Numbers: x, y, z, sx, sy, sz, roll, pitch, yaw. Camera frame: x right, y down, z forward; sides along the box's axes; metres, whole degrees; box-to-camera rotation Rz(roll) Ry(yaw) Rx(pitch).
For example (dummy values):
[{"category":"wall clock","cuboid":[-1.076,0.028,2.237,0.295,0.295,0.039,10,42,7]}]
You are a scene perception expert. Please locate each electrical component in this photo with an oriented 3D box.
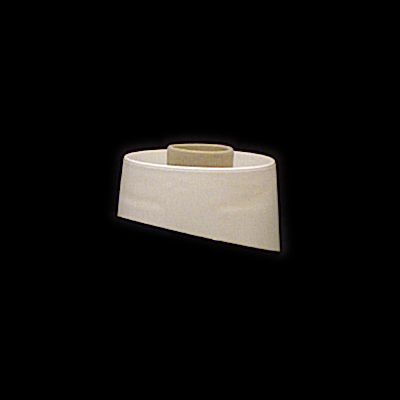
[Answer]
[{"category":"electrical component","cuboid":[0.000,0.000,0.643,0.099,0.064,0.098,2,10,0]}]
